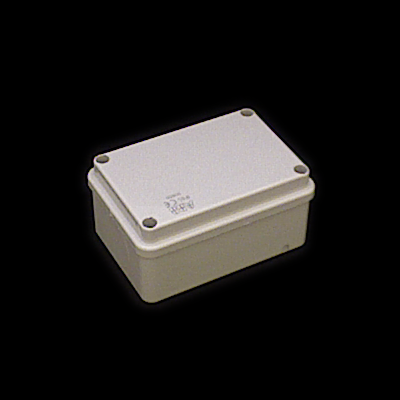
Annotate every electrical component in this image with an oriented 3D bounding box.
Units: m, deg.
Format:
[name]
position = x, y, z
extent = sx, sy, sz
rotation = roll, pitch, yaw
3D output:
[electrical component]
position = 0.000, 0.000, 0.629
extent = 0.113, 0.057, 0.077
rotation = -19, 46, -21
